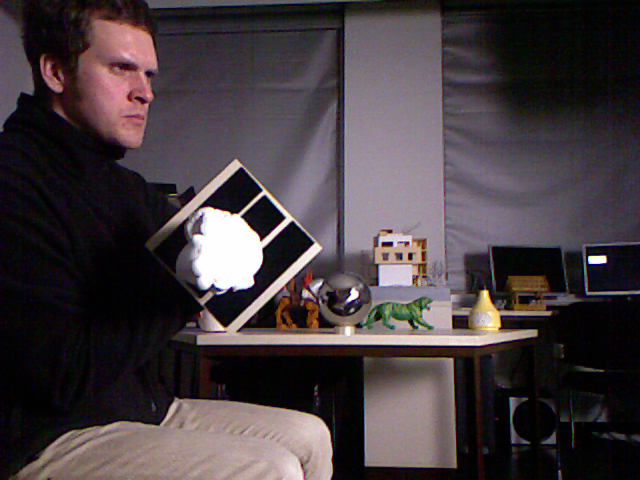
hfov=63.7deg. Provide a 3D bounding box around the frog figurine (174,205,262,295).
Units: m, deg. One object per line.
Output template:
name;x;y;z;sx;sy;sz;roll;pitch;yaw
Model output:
frog figurine;-0.152;0.013;0.760;0.123;0.138;0.160;-25;0;-1
